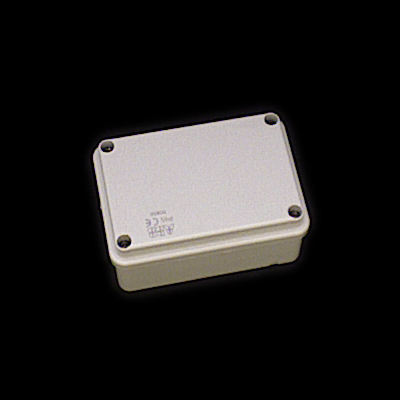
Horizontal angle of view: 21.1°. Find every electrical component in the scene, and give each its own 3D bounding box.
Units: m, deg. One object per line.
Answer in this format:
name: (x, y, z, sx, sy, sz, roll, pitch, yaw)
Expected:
electrical component: (0.000, 0.000, 0.626, 0.113, 0.078, 0.057, -10, -27, -6)
